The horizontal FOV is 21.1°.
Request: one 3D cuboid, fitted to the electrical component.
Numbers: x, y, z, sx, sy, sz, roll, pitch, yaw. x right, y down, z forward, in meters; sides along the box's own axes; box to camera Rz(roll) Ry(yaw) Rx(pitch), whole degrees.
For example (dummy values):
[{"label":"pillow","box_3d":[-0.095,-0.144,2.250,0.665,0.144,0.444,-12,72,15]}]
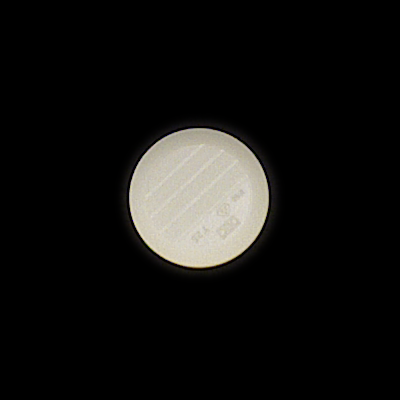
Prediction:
[{"label":"electrical component","box_3d":[0.000,0.000,0.631,0.080,0.080,0.050,0,-6,0]}]
